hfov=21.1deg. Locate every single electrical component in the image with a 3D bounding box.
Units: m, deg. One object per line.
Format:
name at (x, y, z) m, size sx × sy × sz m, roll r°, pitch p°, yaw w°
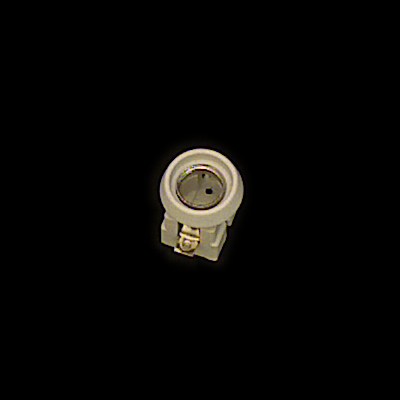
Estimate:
electrical component at (0.000, 0.000, 0.636) m, size 0.048 × 0.067 × 0.055 m, roll 16°, pitch -25°, yaw 10°
